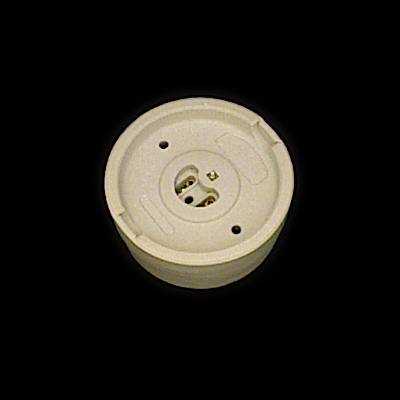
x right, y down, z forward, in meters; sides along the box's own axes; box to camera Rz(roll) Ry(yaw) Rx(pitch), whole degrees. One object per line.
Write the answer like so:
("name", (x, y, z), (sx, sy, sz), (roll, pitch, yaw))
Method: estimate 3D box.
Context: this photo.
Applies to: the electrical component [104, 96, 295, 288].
("electrical component", (0.000, 0.000, 0.636), (0.108, 0.107, 0.060), (0, -27, 0))
